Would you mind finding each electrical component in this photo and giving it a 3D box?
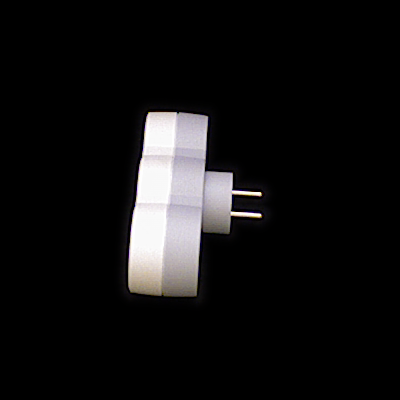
[{"bbox_3d":[0.000,0.000,0.636,0.074,0.052,0.137,3,41,0],"label":"electrical component"}]
